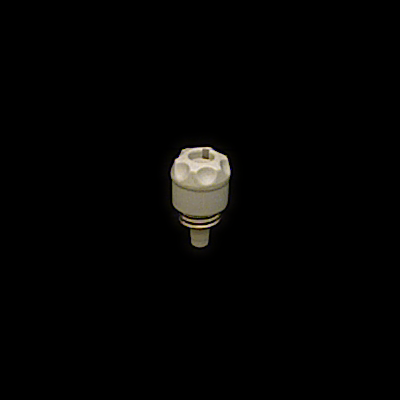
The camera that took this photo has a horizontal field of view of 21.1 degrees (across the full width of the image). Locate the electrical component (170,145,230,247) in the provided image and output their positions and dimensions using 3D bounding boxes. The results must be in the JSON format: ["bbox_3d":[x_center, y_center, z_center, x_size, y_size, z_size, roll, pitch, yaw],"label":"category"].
[{"bbox_3d":[0.000,0.000,0.643,0.035,0.062,0.034,1,32,0],"label":"electrical component"}]
